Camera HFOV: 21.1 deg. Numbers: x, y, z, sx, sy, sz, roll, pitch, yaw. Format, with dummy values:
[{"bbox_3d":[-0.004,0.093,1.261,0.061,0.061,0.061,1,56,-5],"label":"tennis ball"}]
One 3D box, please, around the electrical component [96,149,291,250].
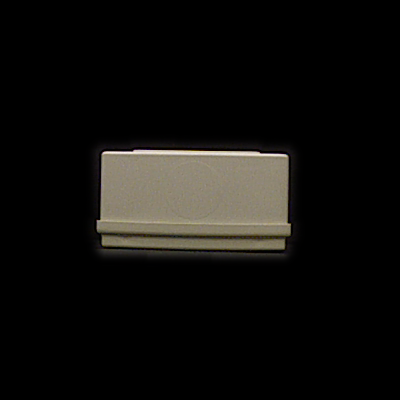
[{"bbox_3d":[-0.001,0.000,0.647,0.109,0.056,0.108,1,0,3],"label":"electrical component"}]
